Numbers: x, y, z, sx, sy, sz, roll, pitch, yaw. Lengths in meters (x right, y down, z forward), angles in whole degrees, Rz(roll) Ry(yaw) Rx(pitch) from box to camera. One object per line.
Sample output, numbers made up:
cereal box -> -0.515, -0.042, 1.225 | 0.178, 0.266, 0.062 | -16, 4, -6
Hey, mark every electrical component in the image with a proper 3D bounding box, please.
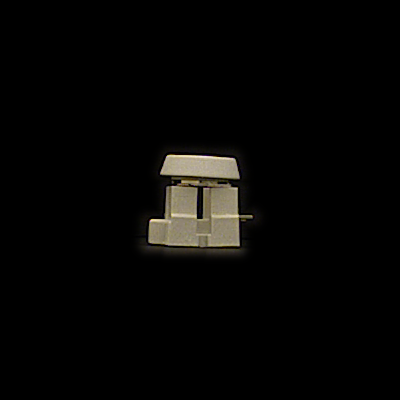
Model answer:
electrical component -> 0.000, 0.000, 0.658 | 0.067, 0.055, 0.048 | 1, 4, -10
